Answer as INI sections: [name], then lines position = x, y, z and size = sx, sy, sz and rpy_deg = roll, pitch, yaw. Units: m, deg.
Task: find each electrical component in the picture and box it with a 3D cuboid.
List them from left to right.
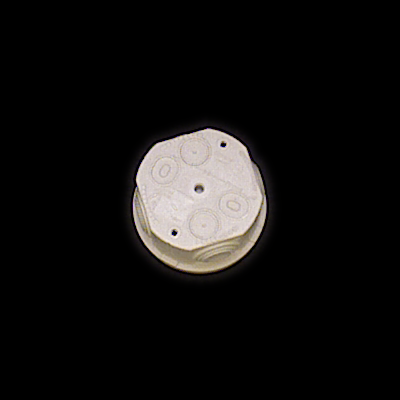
[electrical component]
position = 0.000, 0.000, 0.631
size = 0.080, 0.080, 0.050
rpy_deg = 0, -16, 0
